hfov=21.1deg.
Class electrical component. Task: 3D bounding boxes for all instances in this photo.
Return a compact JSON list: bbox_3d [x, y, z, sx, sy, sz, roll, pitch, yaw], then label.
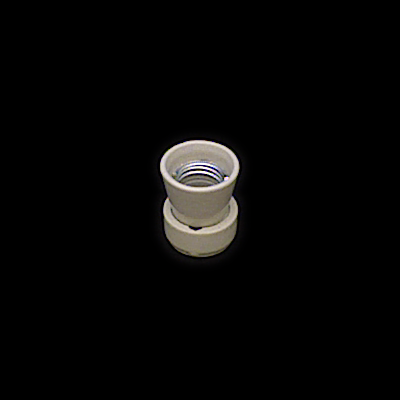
[{"bbox_3d":[0.000,0.000,0.631,0.045,0.055,0.044,0,42,0],"label":"electrical component"}]
